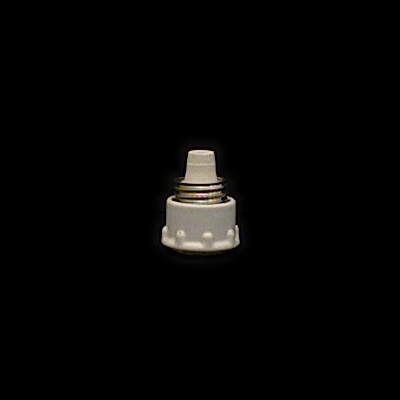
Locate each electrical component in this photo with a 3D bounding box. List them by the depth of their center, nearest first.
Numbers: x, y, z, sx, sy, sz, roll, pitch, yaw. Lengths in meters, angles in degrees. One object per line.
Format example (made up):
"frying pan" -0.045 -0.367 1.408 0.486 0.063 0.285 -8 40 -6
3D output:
"electrical component" 0.000 0.000 0.651 0.048 0.062 0.048 1 11 0
